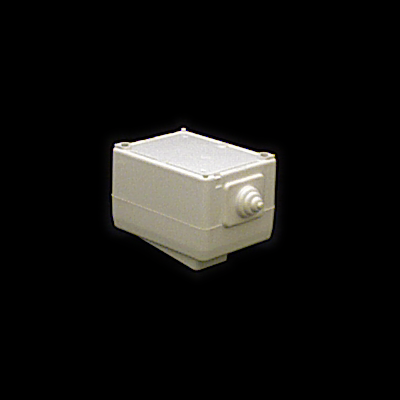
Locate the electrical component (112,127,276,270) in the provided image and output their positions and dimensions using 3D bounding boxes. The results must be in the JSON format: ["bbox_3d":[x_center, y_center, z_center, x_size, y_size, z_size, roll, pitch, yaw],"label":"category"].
[{"bbox_3d":[0.000,0.000,0.635,0.096,0.061,0.061,20,27,41],"label":"electrical component"}]
